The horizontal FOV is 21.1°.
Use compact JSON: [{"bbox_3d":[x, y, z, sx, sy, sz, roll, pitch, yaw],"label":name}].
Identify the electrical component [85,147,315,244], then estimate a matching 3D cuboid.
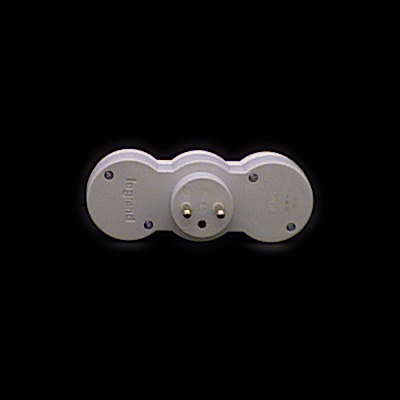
[{"bbox_3d":[0.000,0.000,0.646,0.138,0.052,0.073,1,13,-4],"label":"electrical component"}]
